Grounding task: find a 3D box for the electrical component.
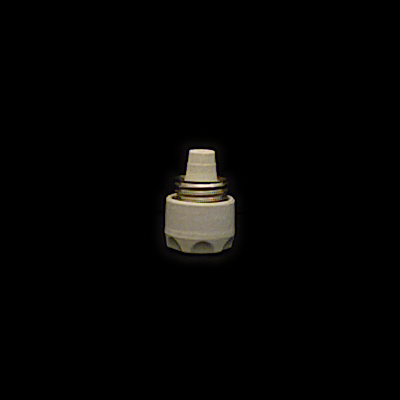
[{"bbox_3d":[0.000,0.000,0.652,0.043,0.062,0.043,2,11,0],"label":"electrical component"}]
